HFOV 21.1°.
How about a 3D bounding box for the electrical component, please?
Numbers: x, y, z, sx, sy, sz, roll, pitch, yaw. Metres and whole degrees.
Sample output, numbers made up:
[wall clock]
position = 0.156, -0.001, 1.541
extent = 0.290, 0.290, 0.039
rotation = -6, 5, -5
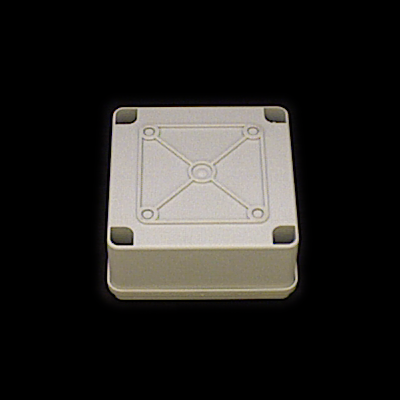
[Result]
[electrical component]
position = 0.000, 0.000, 0.631
extent = 0.109, 0.108, 0.056
rotation = 0, -38, -1
